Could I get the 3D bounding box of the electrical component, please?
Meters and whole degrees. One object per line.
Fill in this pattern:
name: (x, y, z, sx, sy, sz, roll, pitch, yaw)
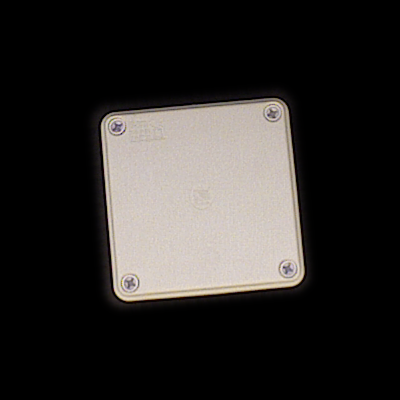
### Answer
electrical component: (0.000, 0.000, 0.630, 0.109, 0.109, 0.056, -5, -6, 0)
